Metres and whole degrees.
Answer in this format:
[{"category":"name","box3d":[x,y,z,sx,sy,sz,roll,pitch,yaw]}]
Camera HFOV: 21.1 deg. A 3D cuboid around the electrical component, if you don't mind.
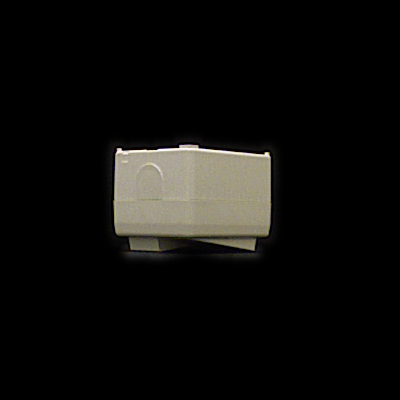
[{"category":"electrical component","box3d":[0.000,0.000,0.658,0.062,0.061,0.096,1,0,40]}]
